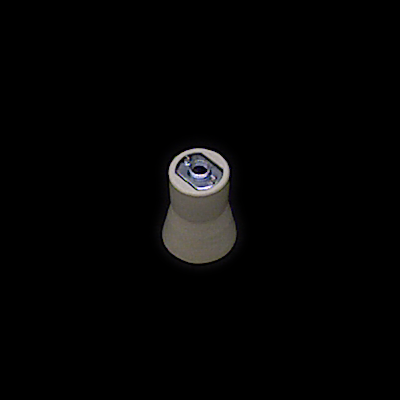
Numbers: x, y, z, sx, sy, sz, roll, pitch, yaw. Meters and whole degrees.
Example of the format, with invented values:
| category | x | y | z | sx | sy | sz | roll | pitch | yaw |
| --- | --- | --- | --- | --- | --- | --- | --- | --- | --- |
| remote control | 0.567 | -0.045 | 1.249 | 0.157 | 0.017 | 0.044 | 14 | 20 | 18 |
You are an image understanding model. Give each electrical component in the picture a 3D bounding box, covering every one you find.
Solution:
| category | x | y | z | sx | sy | sz | roll | pitch | yaw |
| --- | --- | --- | --- | --- | --- | --- | --- | --- | --- |
| electrical component | 0.000 | 0.000 | 0.626 | 0.044 | 0.044 | 0.065 | 0 | -37 | 0 |
